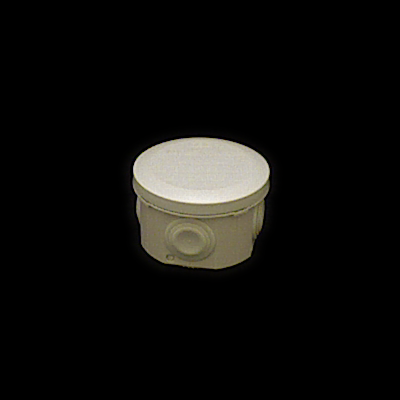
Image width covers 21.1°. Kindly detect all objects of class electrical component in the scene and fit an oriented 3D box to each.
[{"bbox_3d":[0.000,0.000,0.637,0.080,0.051,0.079,1,31,0],"label":"electrical component"}]
